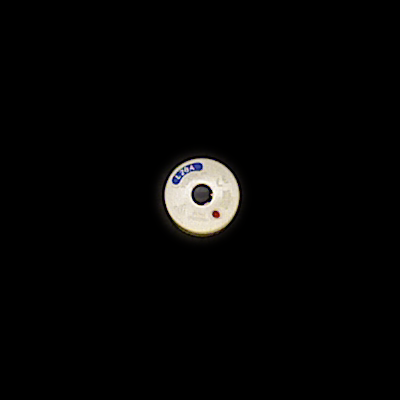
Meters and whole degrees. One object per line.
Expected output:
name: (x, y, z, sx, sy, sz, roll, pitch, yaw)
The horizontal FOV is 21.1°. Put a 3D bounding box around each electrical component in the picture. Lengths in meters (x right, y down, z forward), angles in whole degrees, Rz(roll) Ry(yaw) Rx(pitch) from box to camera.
electrical component: (0.000, 0.000, 0.617, 0.040, 0.040, 0.078, 0, -5, 0)
